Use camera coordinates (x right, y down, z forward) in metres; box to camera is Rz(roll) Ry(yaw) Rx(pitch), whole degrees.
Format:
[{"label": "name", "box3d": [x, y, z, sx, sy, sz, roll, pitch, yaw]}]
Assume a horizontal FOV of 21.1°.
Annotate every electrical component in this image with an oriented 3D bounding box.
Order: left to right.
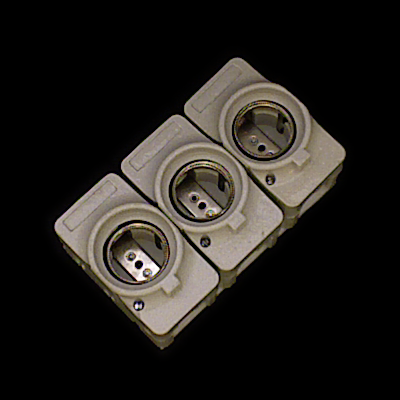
[{"label": "electrical component", "box3d": [0.000, 0.000, 0.631, 0.150, 0.089, 0.062, -44, -12, -11]}]
